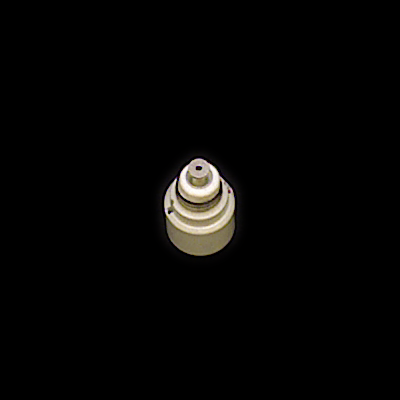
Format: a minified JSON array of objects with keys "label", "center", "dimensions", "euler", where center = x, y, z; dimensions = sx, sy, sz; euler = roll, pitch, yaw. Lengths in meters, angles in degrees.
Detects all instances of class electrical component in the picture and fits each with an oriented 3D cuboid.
[{"label":"electrical component","center":[0.000,0.000,0.619],"dimensions":[0.040,0.040,0.078],"euler":[0,-27,1]}]
